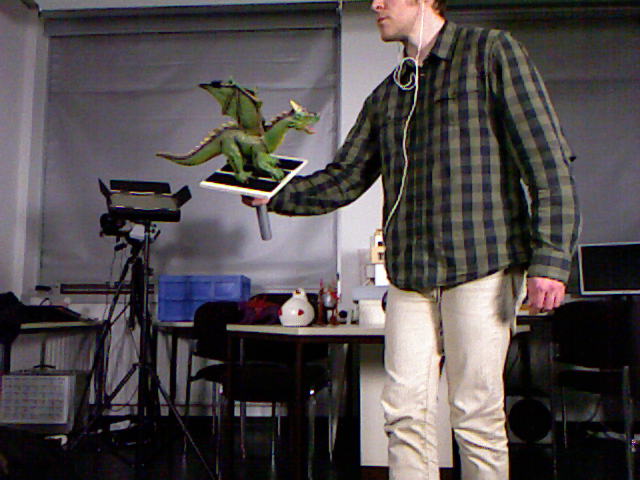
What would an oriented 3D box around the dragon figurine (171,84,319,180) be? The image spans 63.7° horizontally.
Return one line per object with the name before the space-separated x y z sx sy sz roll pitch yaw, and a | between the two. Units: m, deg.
dragon figurine | -0.205 -0.271 1.260 0.411 0.237 0.125 4 39 11
